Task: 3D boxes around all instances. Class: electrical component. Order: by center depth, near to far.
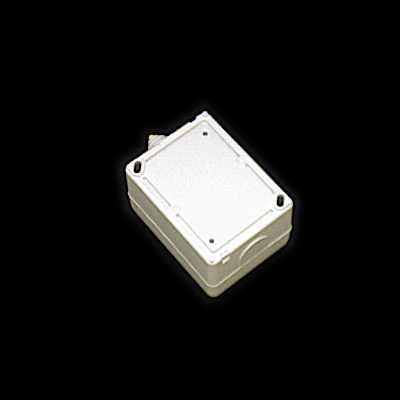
[{"bbox_3d":[0.000,0.000,0.628,0.062,0.096,0.061,-36,-22,-16],"label":"electrical component"}]
